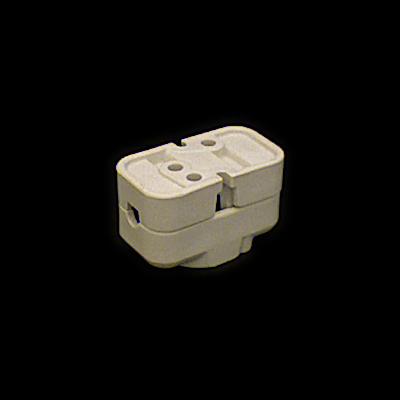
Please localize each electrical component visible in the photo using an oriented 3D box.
[{"bbox_3d":[0.000,0.000,0.641,0.095,0.060,0.053,-19,37,-29],"label":"electrical component"}]
